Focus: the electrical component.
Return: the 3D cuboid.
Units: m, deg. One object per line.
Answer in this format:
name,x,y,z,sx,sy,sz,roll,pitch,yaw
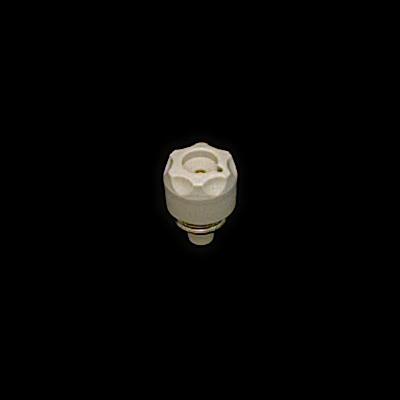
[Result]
electrical component,0.000,0.000,0.638,0.043,0.062,0.043,0,42,1
